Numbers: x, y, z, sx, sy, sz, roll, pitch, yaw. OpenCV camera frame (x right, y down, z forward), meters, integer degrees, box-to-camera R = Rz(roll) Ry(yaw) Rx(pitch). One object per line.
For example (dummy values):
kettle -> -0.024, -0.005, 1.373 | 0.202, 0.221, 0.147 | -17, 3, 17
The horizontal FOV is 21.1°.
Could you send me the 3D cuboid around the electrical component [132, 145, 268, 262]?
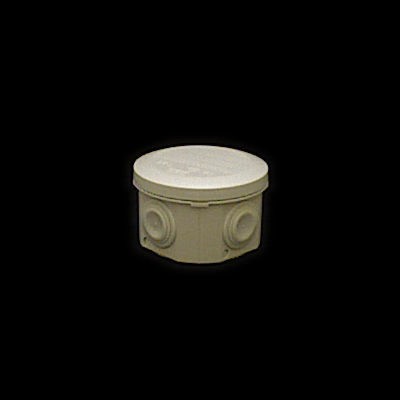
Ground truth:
electrical component -> 0.000, 0.000, 0.641 | 0.080, 0.051, 0.079 | 1, 21, 0
